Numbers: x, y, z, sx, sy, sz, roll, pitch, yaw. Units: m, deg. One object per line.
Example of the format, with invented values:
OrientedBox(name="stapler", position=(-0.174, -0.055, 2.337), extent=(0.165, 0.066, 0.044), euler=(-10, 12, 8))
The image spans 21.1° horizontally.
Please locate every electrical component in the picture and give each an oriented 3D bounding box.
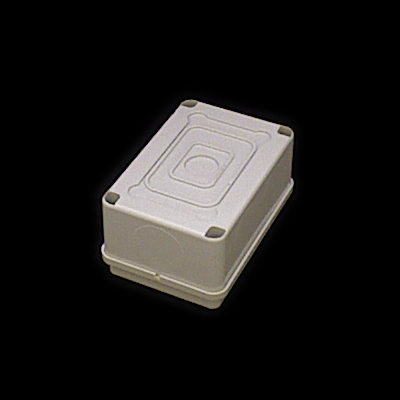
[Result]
OrientedBox(name="electrical component", position=(0.000, 0.000, 0.631), extent=(0.078, 0.057, 0.112), euler=(18, 45, 18))
